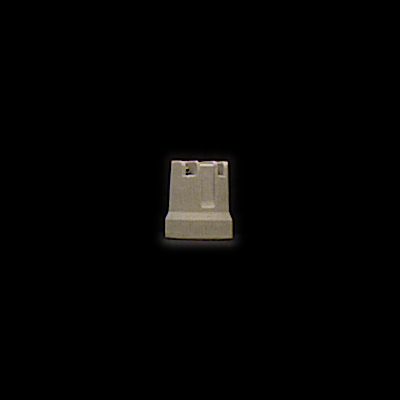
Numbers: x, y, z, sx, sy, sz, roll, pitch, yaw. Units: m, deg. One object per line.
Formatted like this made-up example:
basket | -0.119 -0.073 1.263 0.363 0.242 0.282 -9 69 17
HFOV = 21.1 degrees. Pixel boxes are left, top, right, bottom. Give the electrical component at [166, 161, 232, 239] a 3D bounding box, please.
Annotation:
electrical component | 0.000 0.000 0.648 0.040 0.046 0.040 1 1 0
